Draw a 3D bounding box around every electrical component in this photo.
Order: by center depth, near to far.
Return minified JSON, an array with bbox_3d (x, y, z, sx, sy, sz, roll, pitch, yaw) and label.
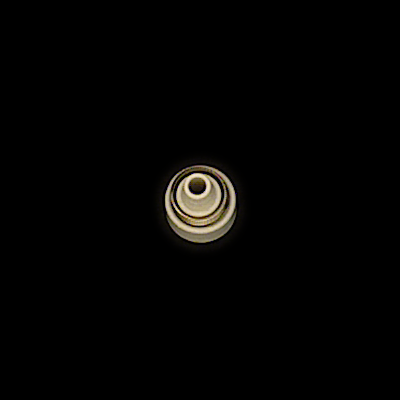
[{"bbox_3d":[0.000,0.000,0.634,0.043,0.043,0.061,0,-16,2],"label":"electrical component"}]
